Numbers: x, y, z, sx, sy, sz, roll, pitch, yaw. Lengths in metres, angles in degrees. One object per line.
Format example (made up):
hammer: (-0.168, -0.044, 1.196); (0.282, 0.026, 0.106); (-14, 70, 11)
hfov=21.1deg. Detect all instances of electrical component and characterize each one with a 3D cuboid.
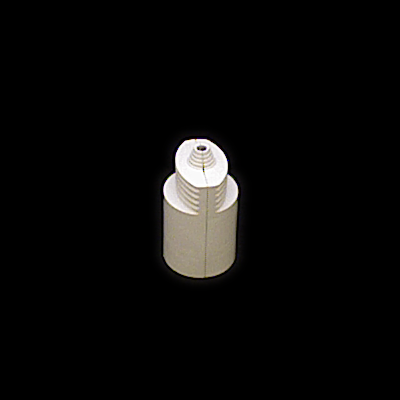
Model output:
electrical component: (0.000, 0.000, 0.623); (0.043, 0.082, 0.042); (1, 42, 0)
